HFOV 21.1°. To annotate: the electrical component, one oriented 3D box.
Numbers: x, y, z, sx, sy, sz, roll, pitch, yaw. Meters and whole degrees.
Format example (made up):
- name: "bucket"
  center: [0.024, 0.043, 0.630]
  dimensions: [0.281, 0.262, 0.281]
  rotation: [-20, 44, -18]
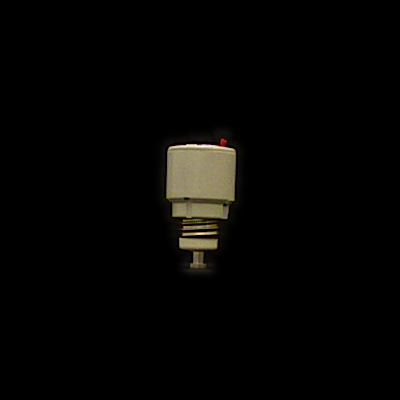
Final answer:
- name: "electrical component"
  center: [0.000, 0.000, 0.648]
  dimensions: [0.040, 0.078, 0.040]
  rotation: [2, 1, 0]
